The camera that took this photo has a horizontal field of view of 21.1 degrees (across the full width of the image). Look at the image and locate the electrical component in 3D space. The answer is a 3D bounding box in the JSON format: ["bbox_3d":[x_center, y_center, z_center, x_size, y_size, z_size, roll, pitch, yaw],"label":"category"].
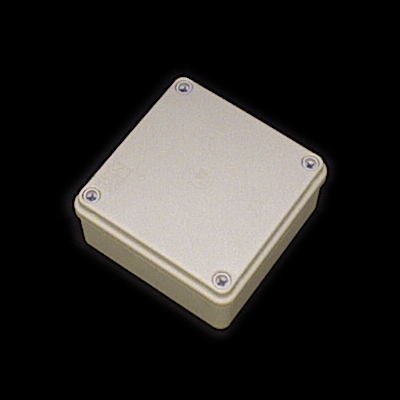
[{"bbox_3d":[0.000,0.000,0.629,0.108,0.109,0.056,32,-23,15],"label":"electrical component"}]
